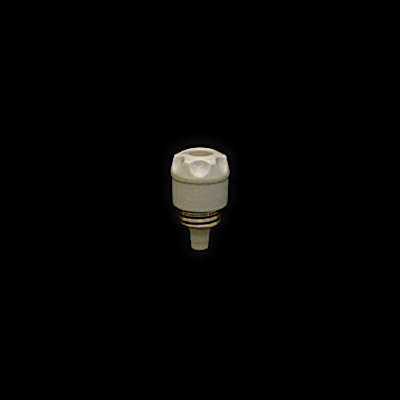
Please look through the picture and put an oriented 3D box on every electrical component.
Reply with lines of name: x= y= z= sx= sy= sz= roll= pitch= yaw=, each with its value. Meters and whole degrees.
electrical component: x=0.000 y=0.000 z=0.647 sx=0.035 sy=0.062 sz=0.034 roll=1 pitch=22 yaw=0
